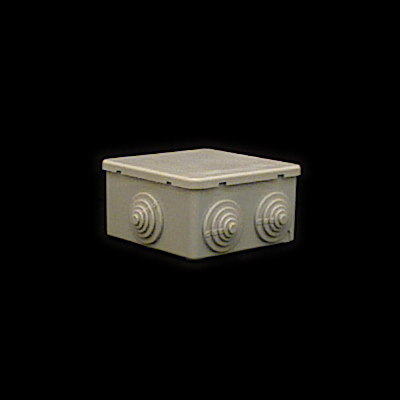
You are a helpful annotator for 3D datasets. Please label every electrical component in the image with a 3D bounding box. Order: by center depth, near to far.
[{"bbox_3d":[0.000,0.000,0.651,0.100,0.049,0.098,-9,15,-41],"label":"electrical component"}]
